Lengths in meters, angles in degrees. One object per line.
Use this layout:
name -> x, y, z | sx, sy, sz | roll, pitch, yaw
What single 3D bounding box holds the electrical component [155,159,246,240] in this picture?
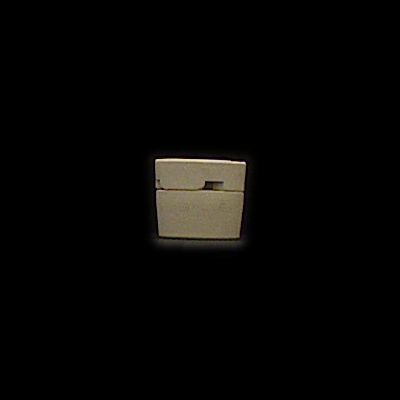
electrical component -> 0.000, 0.000, 0.651 | 0.055, 0.047, 0.055 | 1, 1, 0
